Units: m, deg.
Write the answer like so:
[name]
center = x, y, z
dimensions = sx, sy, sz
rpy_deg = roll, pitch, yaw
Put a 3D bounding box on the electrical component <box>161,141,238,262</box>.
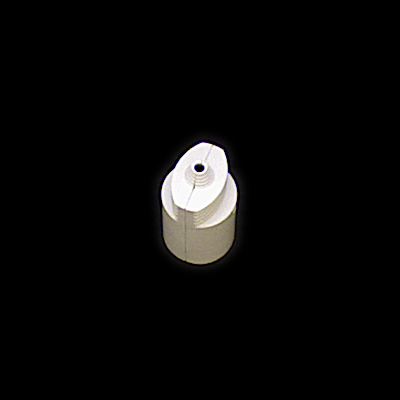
[electrical component]
center = 0.000, 0.000, 0.617
dimensions = 0.043, 0.043, 0.081
rpy_deg = 0, -27, 0
